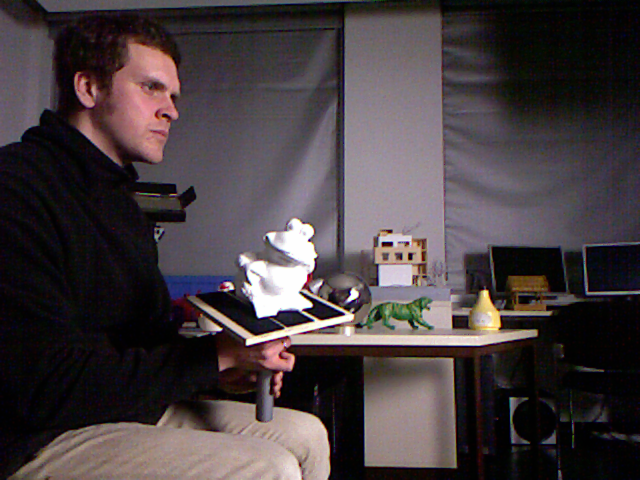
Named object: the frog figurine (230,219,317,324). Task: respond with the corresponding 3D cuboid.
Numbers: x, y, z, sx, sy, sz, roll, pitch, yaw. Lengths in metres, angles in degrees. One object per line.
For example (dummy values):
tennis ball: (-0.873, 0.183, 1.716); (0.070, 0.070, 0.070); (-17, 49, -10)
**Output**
frog figurine: (-0.073, 0.039, 0.830); (0.138, 0.158, 0.124); (2, 14, -16)
